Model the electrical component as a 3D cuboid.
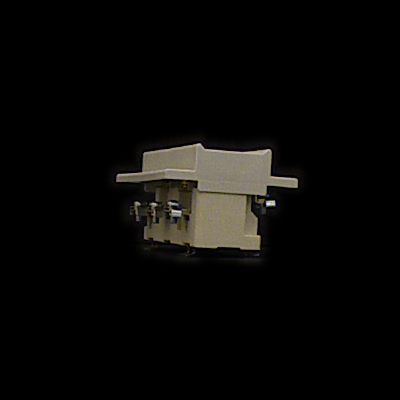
[{"bbox_3d":[0.000,0.000,0.664,0.079,0.063,0.121,2,0,-17],"label":"electrical component"}]
